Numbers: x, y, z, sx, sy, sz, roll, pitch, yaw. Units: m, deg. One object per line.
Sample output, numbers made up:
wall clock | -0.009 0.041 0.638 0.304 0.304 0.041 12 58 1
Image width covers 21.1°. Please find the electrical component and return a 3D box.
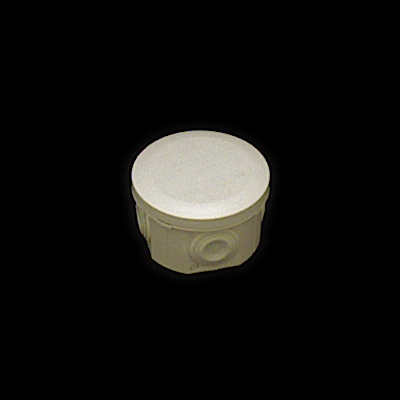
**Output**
electrical component | 0.000 0.000 0.632 0.080 0.051 0.080 0 42 0
